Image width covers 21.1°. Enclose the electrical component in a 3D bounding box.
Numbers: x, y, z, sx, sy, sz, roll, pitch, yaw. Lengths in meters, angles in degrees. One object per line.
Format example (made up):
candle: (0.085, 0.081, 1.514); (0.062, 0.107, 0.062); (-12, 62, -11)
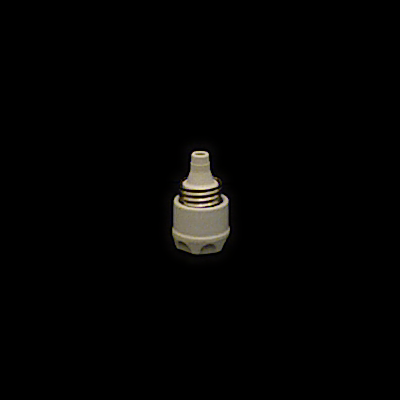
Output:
electrical component: (0.000, 0.000, 0.650); (0.035, 0.062, 0.034); (-1, 22, 1)
